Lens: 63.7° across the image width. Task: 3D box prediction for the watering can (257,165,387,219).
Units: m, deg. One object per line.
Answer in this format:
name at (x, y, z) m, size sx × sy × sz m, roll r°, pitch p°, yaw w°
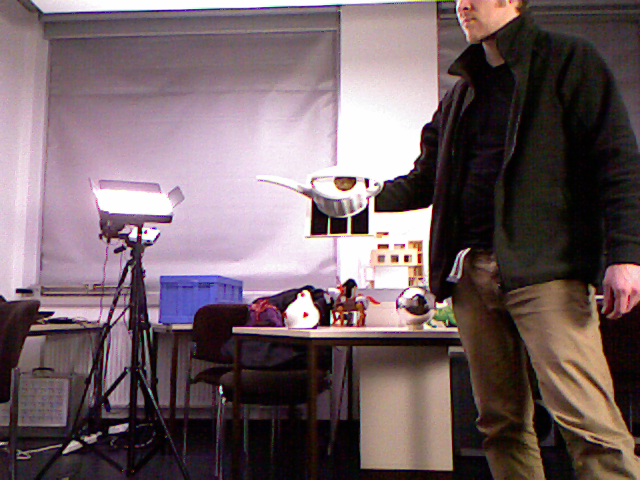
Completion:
watering can at (0.013, -0.142, 1.448) m, size 0.348 × 0.106 × 0.221 m, roll 0°, pitch -22°, yaw 6°
